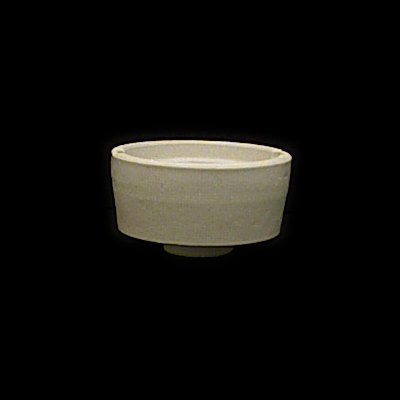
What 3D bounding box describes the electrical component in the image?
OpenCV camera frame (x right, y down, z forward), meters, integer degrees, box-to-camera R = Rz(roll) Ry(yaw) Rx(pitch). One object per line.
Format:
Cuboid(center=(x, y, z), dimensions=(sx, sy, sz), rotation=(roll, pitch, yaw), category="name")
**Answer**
Cuboid(center=(0.000, 0.000, 0.648), dimensions=(0.108, 0.061, 0.107), rotation=(2, 11, 0), category="electrical component")
